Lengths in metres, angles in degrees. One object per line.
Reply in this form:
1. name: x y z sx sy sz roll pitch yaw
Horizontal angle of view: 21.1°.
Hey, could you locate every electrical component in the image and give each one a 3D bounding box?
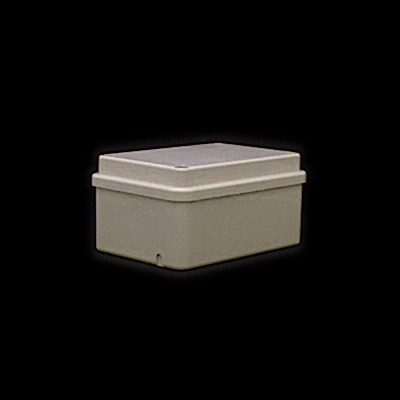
1. electrical component: 0.000 0.000 0.645 0.077 0.057 0.113 11 14 42
